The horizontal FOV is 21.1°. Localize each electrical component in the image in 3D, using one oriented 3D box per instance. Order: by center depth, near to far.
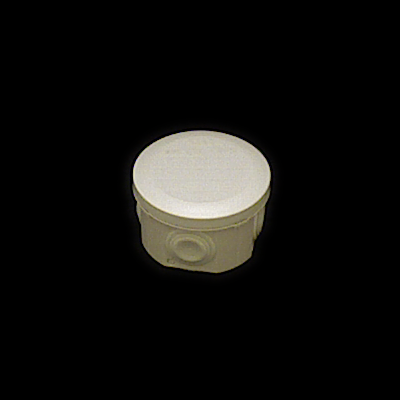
[{"bbox_3d":[0.000,0.000,0.634,0.080,0.051,0.079,1,42,0],"label":"electrical component"}]
